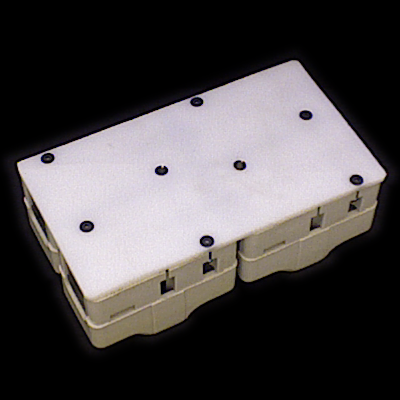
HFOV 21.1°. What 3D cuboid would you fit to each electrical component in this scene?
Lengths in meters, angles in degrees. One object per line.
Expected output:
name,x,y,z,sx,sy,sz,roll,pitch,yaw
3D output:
electrical component,0.000,0.000,0.627,0.186,0.105,0.060,-22,-35,-17
